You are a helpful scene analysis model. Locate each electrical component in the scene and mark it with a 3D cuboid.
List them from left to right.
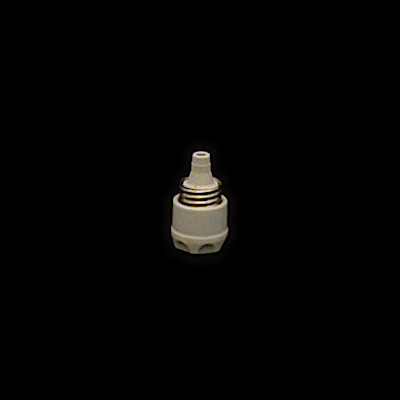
[{"bbox_3d":[0.000,0.000,0.653,0.035,0.062,0.034,1,23,0],"label":"electrical component"}]
